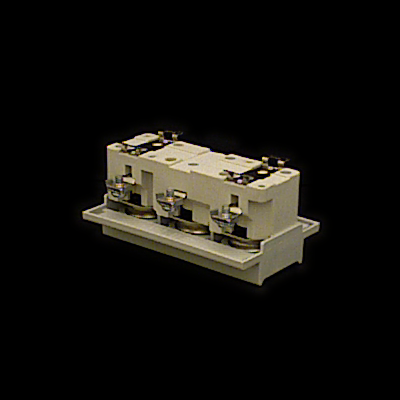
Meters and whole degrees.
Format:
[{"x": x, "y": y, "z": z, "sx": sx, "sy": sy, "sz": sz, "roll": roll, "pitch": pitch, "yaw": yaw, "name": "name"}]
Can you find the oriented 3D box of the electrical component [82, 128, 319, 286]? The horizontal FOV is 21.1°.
[{"x": 0.000, "y": 0.000, "z": 0.648, "sx": 0.120, "sy": 0.064, "sz": 0.078, "roll": 17, "pitch": 26, "yaw": 34, "name": "electrical component"}]
